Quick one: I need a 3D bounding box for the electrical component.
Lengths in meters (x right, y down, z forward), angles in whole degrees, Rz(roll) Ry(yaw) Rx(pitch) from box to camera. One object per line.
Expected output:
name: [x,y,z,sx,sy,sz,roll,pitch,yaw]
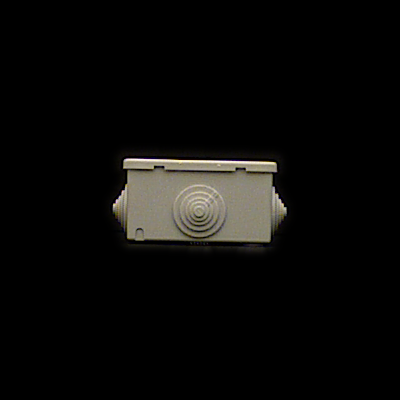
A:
electrical component: [0.000,0.000,0.657,0.100,0.048,0.099,1,1,0]
